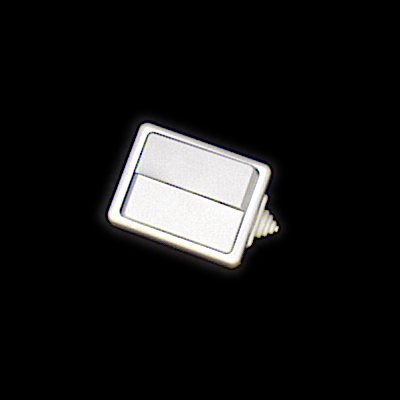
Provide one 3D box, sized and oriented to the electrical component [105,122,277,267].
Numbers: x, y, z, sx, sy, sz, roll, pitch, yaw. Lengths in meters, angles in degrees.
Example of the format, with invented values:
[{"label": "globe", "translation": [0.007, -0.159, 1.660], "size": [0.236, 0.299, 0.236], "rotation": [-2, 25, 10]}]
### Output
[{"label": "electrical component", "translation": [0.000, 0.000, 0.627], "size": [0.096, 0.062, 0.061], "rotation": [20, -6, 3]}]
